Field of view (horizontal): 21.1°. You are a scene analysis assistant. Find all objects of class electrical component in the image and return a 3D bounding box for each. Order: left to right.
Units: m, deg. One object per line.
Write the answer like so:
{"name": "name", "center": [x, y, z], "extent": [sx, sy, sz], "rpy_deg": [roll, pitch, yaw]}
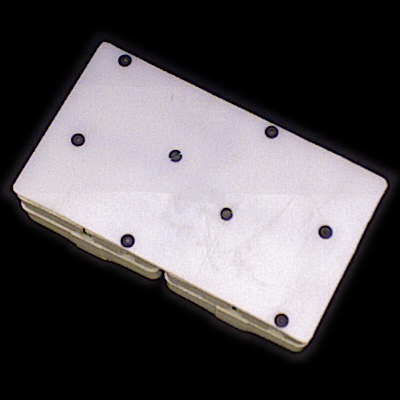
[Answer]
{"name": "electrical component", "center": [0.000, 0.000, 0.625], "extent": [0.186, 0.106, 0.060], "rpy_deg": [27, -15, 8]}
